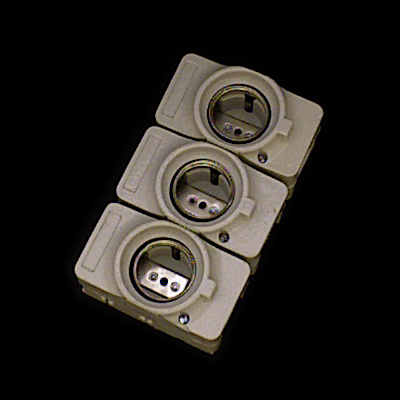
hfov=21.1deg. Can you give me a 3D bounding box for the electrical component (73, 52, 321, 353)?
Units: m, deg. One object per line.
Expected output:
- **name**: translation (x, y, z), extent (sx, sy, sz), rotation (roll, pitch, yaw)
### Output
- **electrical component**: translation (0.000, 0.000, 0.631), extent (0.089, 0.150, 0.062), rotation (24, -15, 7)
